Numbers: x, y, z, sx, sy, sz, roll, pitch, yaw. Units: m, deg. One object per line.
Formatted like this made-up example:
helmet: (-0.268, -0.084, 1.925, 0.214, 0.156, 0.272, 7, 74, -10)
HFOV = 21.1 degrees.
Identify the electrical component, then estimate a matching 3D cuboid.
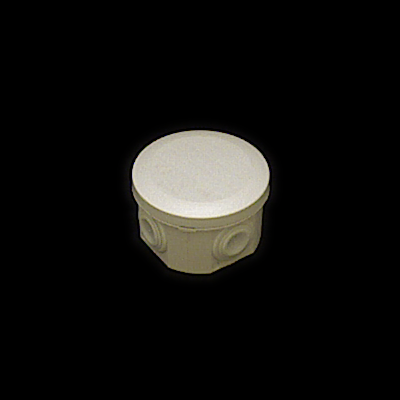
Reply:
electrical component: (0.000, 0.000, 0.634, 0.080, 0.051, 0.079, 1, 41, 0)
